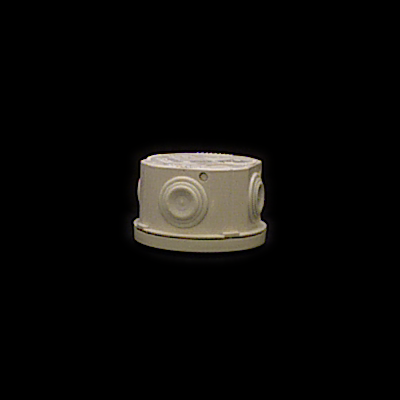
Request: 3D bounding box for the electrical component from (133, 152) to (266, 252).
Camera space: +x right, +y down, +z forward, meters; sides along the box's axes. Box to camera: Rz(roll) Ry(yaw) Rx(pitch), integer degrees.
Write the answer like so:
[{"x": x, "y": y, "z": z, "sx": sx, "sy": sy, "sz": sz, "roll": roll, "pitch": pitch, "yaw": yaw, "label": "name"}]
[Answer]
[{"x": 0.000, "y": 0.000, "z": 0.646, "sx": 0.080, "sy": 0.051, "sz": 0.079, "roll": 2, "pitch": 10, "yaw": 0, "label": "electrical component"}]
